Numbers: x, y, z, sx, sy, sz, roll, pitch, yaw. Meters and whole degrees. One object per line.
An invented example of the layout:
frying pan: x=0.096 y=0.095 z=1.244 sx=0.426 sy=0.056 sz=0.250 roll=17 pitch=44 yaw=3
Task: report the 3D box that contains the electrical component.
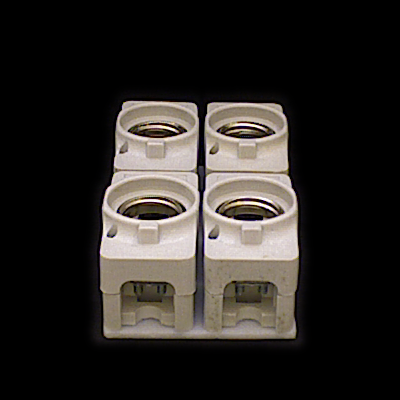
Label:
electrical component: x=0.000 y=0.000 z=0.633 sx=0.105 sy=0.061 sz=0.184 roll=1 pitch=32 yaw=0
